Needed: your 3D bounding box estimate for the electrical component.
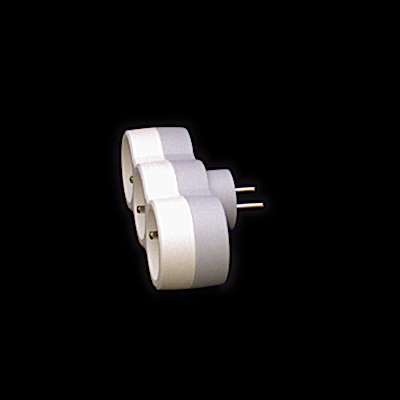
[{"bbox_3d":[0.000,0.000,0.639,0.074,0.053,0.136,-4,31,-13],"label":"electrical component"}]
